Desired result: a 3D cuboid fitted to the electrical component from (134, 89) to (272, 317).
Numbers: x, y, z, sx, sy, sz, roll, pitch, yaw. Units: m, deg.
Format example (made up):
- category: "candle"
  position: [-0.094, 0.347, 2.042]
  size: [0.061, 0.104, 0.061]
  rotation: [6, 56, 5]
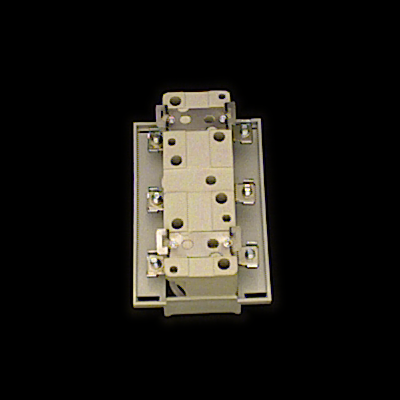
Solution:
- category: "electrical component"
  position: [0.000, 0.000, 0.633]
  size: [0.079, 0.121, 0.063]
  rotation: [-2, -27, 0]
